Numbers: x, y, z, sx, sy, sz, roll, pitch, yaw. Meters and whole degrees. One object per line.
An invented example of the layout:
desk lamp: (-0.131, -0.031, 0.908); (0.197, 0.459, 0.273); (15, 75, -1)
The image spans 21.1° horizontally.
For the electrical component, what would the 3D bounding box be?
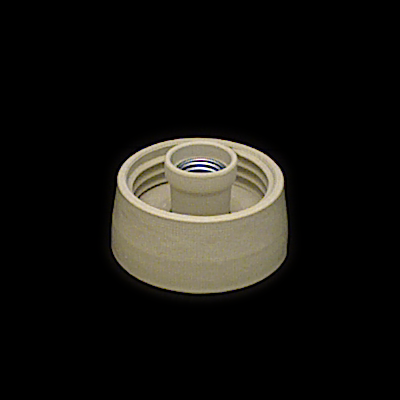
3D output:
electrical component: (0.000, 0.000, 0.642); (0.108, 0.061, 0.106); (1, 32, 0)
